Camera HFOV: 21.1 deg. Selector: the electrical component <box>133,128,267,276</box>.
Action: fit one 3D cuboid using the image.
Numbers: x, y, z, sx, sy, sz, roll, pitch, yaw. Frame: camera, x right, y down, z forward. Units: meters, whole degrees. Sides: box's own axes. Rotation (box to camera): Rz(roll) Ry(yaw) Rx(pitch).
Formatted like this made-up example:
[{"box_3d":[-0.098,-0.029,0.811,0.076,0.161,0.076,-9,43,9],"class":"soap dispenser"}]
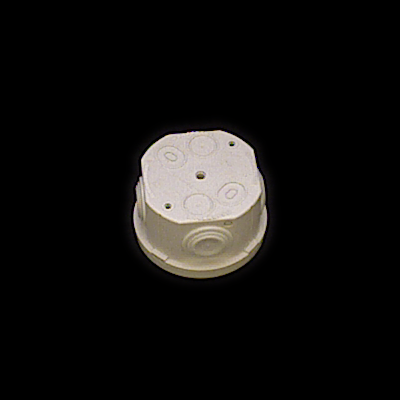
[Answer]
[{"box_3d":[0.000,0.000,0.633,0.080,0.080,0.051,0,-38,-1],"class":"electrical component"}]
